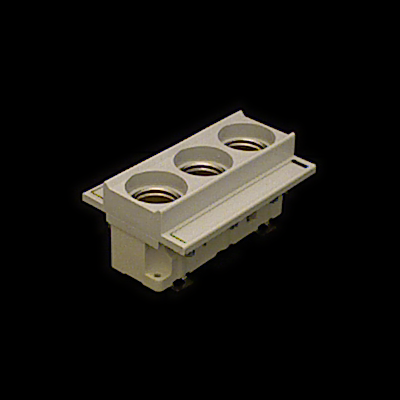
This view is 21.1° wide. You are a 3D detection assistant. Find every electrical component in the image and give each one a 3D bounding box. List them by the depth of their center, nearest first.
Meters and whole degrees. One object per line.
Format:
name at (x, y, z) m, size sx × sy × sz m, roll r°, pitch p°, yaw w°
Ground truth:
electrical component at (0.000, 0.000, 0.646) m, size 0.078 × 0.064 × 0.121 m, roll 27°, pitch 40°, yaw 33°
